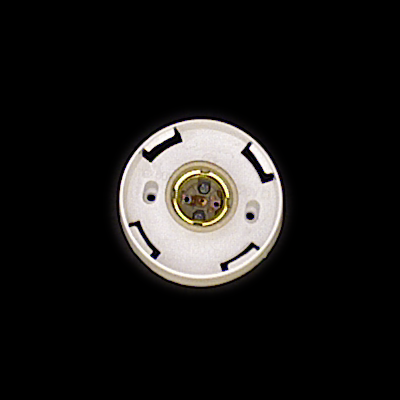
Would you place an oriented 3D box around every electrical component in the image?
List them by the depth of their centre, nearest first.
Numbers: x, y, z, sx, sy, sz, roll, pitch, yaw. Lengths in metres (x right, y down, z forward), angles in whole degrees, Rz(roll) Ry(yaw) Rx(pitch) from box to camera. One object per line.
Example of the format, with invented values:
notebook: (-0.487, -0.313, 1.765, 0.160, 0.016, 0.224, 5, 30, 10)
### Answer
electrical component: (0.000, 0.000, 0.625, 0.099, 0.099, 0.064, 0, -7, 0)
